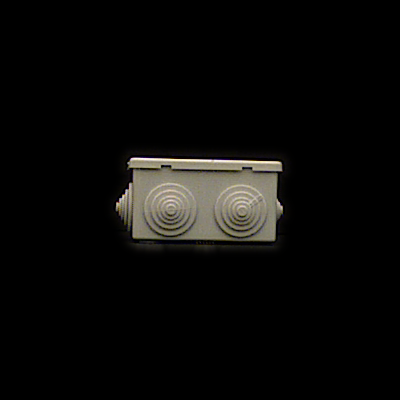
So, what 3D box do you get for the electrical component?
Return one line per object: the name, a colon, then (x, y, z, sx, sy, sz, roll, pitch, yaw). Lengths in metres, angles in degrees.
electrical component: (0.000, 0.000, 0.658, 0.100, 0.048, 0.099, 1, 1, -5)
